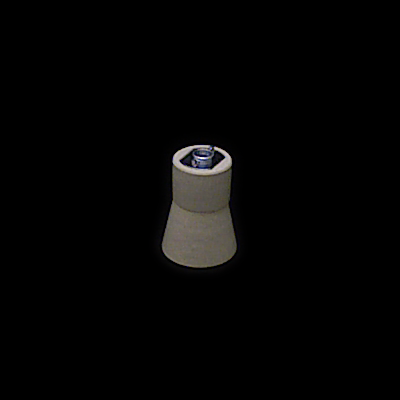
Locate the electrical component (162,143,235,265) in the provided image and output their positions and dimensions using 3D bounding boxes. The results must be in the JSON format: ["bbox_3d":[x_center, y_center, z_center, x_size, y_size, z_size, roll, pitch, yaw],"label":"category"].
[{"bbox_3d":[0.000,0.000,0.632,0.044,0.066,0.044,2,32,-1],"label":"electrical component"}]
